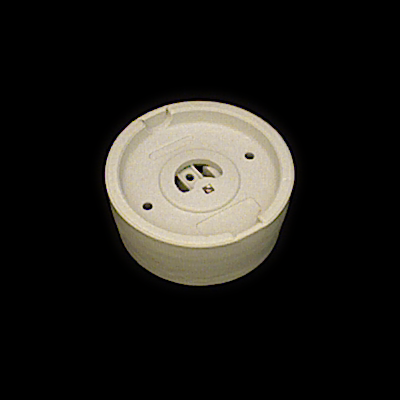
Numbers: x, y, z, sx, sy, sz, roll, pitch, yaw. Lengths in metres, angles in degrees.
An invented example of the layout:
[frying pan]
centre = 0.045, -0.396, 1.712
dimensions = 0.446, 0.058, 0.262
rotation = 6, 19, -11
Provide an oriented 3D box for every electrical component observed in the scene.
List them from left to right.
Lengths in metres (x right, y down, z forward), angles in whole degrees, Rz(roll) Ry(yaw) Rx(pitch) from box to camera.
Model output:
[electrical component]
centre = 0.000, 0.000, 0.634
dimensions = 0.108, 0.107, 0.060
rotation = 0, -37, 0
